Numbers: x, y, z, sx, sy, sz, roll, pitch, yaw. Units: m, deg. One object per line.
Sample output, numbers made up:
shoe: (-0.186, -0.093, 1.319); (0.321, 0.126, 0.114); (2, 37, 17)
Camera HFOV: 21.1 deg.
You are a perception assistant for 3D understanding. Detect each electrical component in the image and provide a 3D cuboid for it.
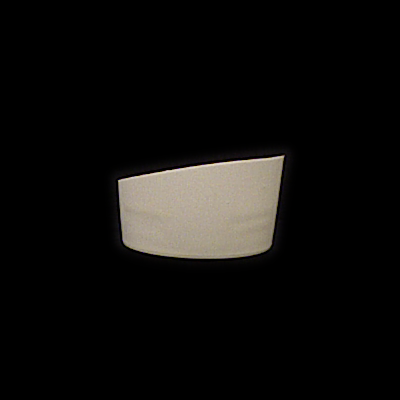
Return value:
electrical component: (0.000, 0.000, 0.644); (0.099, 0.064, 0.098); (2, 10, 0)
